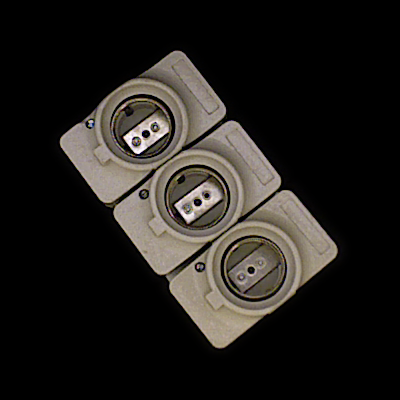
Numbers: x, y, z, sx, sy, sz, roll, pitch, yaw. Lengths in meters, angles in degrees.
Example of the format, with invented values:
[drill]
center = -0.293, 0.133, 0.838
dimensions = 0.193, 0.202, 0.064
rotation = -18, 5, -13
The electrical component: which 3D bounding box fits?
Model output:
[electrical component]
center = 0.000, 0.000, 0.631
dimensions = 0.089, 0.150, 0.061
rotation = -38, -5, -3
